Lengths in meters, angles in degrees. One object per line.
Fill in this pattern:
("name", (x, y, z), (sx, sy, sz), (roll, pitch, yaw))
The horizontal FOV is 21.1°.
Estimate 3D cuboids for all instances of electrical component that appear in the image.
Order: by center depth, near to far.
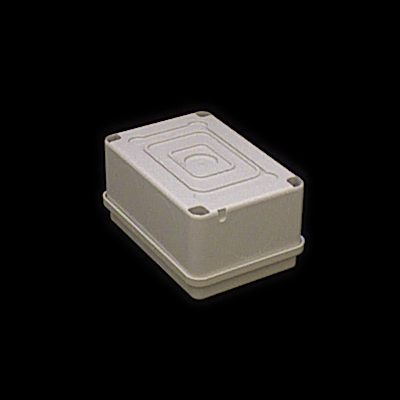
("electrical component", (0.000, 0.000, 0.635), (0.078, 0.058, 0.111), (-17, 35, -27))
